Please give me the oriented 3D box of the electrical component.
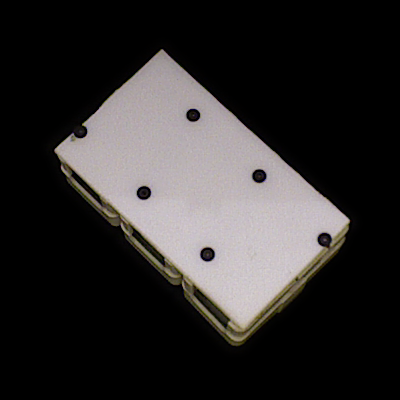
[{"bbox_3d":[0.000,0.000,0.630,0.150,0.089,0.062,44,-12,12],"label":"electrical component"}]
